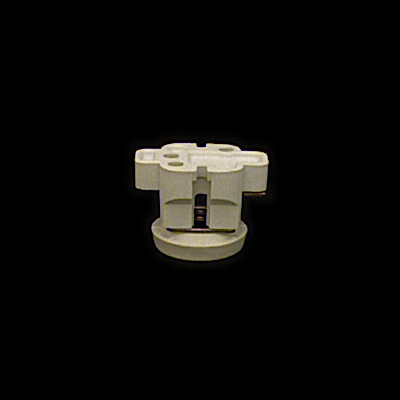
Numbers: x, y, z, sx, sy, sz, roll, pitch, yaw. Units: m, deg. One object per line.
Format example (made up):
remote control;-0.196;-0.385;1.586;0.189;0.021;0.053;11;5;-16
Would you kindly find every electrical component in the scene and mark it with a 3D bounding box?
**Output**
electrical component;0.000;0.000;0.648;0.078;0.057;0.057;2;21;-3
